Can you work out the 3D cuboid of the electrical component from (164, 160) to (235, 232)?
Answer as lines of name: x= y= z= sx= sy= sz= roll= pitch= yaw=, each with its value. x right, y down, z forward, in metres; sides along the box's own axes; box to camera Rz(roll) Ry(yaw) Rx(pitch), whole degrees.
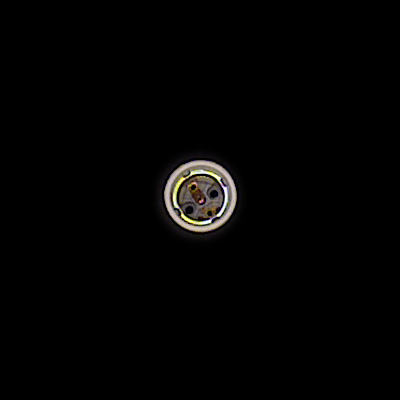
electrical component: x=0.000 y=0.000 z=0.627 sx=0.040 sy=0.040 sz=0.046 roll=0 pitch=-6 yaw=0
